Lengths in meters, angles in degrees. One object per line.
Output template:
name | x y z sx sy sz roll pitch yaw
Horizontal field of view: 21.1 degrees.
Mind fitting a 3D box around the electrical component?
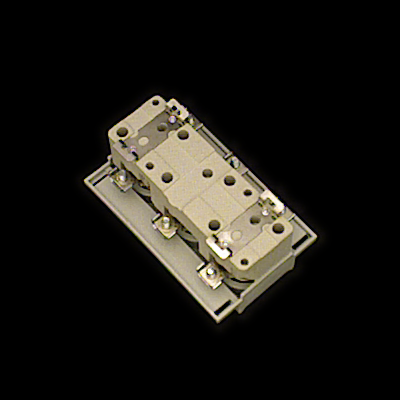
electrical component | 0.000 0.000 0.632 0.079 0.121 0.063 -39 -20 -17
